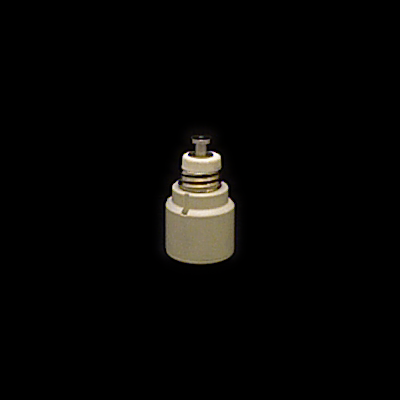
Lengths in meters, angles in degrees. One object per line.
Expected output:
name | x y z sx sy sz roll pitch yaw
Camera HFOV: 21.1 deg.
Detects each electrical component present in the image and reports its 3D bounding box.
electrical component | 0.000 0.000 0.637 0.040 0.079 0.039 1 22 0
